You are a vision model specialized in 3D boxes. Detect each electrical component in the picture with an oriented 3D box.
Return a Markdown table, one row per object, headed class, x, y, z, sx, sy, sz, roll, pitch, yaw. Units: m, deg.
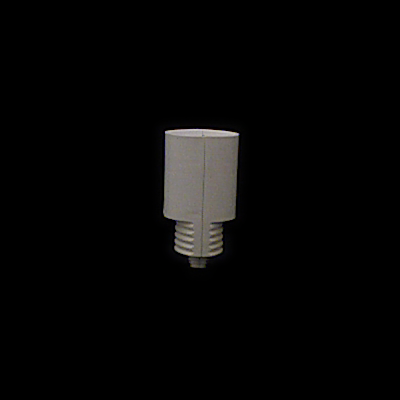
| class | x | y | z | sx | sy | sz | roll | pitch | yaw |
| --- | --- | --- | --- | --- | --- | --- | --- | --- | --- |
| electrical component | 0.000 | 0.000 | 0.640 | 0.043 | 0.082 | 0.042 | 1 | 12 | 0 |
